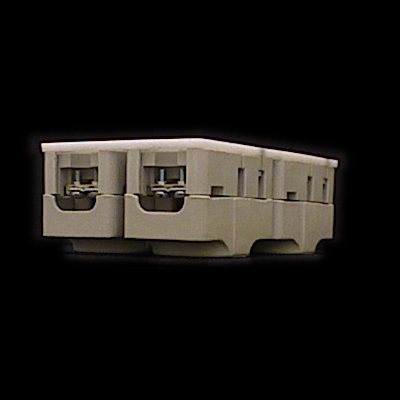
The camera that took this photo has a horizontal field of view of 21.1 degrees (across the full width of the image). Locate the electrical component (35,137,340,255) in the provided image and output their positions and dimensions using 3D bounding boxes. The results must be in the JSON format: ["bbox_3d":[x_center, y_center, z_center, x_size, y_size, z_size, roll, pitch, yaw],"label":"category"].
[{"bbox_3d":[0.000,0.000,0.650,0.105,0.060,0.186,1,-1,30],"label":"electrical component"}]
